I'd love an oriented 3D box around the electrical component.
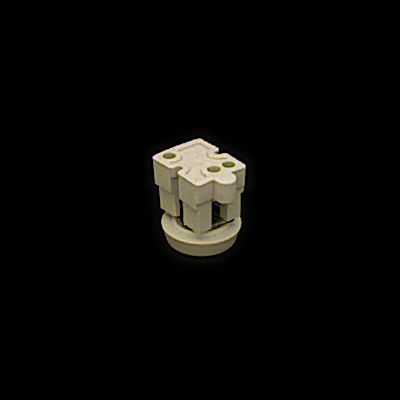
[{"bbox_3d":[0.000,0.000,0.643,0.048,0.056,0.065,-23,39,-31],"label":"electrical component"}]
